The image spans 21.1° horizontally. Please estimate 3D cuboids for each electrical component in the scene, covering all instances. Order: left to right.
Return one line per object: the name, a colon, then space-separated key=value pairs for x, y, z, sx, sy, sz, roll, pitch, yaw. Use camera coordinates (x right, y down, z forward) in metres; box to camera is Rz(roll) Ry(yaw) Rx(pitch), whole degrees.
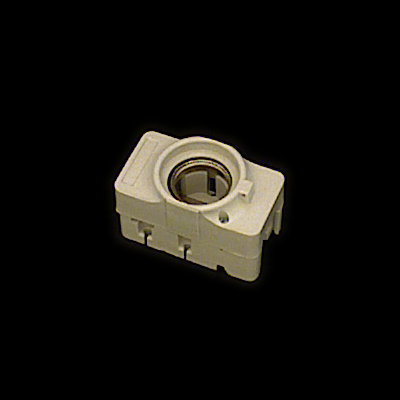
electrical component: x=0.000 y=0.000 z=0.637 sx=0.089 sy=0.050 sz=0.056 roll=18 pitch=-35 yaw=13
